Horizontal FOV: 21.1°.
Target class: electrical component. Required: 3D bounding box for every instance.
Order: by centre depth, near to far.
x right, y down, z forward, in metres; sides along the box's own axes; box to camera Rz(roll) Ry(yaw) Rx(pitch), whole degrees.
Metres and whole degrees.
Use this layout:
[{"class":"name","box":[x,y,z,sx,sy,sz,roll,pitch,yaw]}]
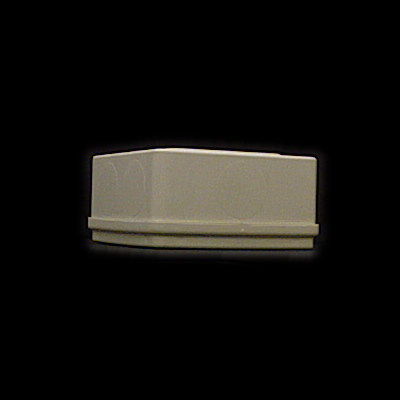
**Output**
[{"class":"electrical component","box":[0.000,0.000,0.652,0.109,0.056,0.108,2,-1,-26]}]
